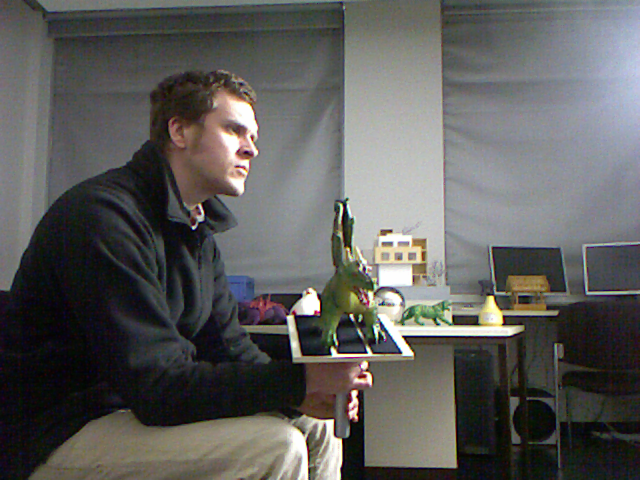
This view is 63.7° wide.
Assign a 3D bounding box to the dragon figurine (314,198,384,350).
[{"bbox_3d":[0.048,0.043,0.932,0.122,0.240,0.416,-1,16,-6],"label":"dragon figurine"}]
